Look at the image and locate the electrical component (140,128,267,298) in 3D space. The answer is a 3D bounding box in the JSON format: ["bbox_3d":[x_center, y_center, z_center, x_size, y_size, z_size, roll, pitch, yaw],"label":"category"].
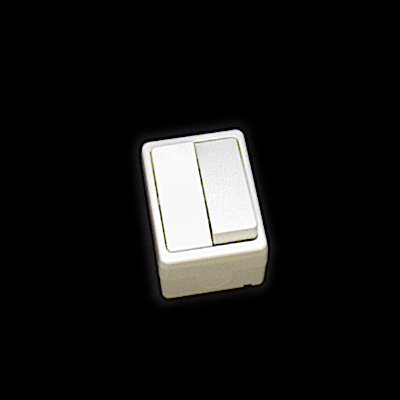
[{"bbox_3d":[0.000,0.000,0.628,0.062,0.096,0.061,-8,-27,-4],"label":"electrical component"}]
